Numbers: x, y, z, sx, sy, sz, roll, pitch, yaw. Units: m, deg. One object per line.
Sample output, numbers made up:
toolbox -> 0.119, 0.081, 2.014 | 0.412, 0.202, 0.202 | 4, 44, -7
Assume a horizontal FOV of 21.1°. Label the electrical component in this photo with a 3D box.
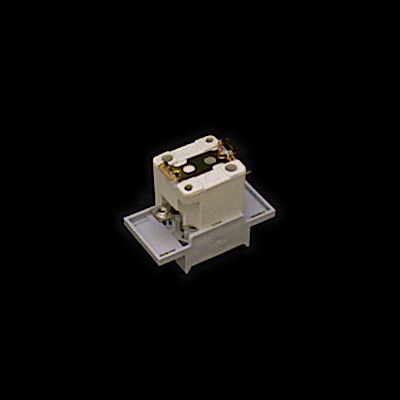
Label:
electrical component -> 0.000, 0.000, 0.629 | 0.081, 0.064, 0.042 | -23, 47, -24
